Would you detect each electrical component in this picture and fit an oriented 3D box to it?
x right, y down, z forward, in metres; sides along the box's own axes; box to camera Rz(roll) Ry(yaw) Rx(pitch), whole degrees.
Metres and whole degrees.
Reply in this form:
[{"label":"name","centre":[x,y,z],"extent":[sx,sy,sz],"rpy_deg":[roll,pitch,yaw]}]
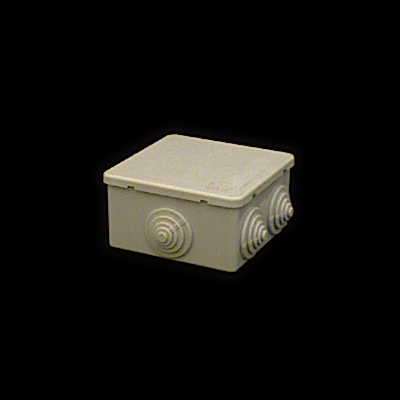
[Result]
[{"label":"electrical component","centre":[0.000,0.000,0.647],"extent":[0.099,0.049,0.099],"rpy_deg":[11,24,23]}]
